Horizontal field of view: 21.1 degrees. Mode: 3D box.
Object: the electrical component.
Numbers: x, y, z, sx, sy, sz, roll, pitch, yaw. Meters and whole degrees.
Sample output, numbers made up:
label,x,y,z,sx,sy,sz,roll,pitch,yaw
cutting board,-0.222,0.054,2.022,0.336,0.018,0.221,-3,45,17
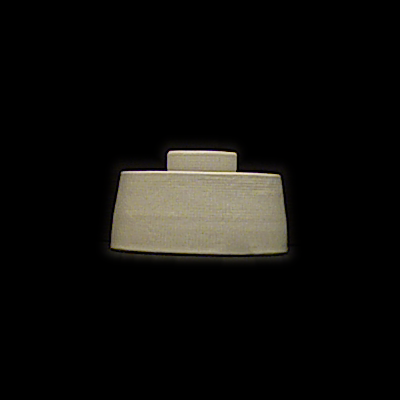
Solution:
label,x,y,z,sx,sy,sz,roll,pitch,yaw
electrical component,0.000,0.000,0.656,0.108,0.060,0.108,1,1,0
